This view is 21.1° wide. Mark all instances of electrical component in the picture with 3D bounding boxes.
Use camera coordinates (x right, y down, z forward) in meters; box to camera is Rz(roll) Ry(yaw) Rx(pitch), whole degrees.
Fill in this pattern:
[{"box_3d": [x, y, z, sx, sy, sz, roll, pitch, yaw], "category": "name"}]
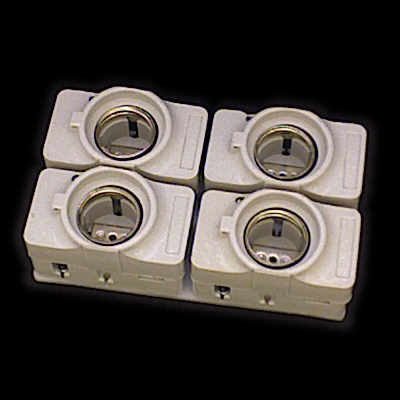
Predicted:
[{"box_3d": [0.000, 0.000, 0.625, 0.186, 0.106, 0.060, 7, -27, 4], "category": "electrical component"}]
